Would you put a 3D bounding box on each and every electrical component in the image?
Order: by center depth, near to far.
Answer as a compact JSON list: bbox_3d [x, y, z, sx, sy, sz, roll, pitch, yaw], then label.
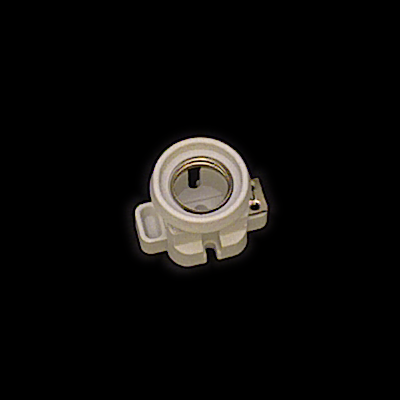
[{"bbox_3d":[0.000,0.000,0.629,0.078,0.058,0.057,-13,-26,-7],"label":"electrical component"}]
